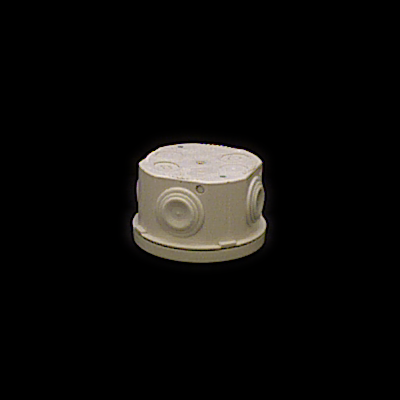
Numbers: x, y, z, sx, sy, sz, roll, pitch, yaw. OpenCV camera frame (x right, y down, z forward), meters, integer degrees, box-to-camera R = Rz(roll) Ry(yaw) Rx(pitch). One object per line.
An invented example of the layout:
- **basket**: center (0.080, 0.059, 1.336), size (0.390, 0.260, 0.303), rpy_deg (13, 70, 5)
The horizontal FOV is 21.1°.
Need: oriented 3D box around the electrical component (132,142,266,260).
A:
- **electrical component**: center (0.000, 0.000, 0.640), size (0.080, 0.051, 0.079), rpy_deg (1, 21, 0)
